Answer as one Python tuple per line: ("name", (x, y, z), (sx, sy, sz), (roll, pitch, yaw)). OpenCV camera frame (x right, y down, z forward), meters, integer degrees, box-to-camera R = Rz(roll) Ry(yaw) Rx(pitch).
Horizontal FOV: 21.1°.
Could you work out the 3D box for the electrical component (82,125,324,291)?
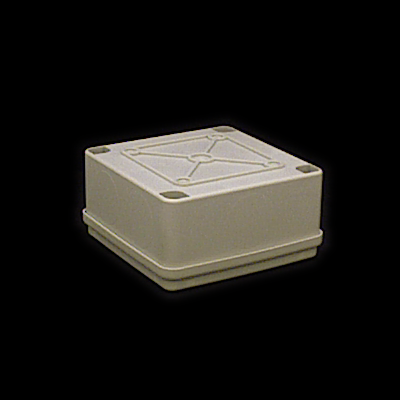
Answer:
("electrical component", (0.000, 0.000, 0.637), (0.108, 0.057, 0.107), (-12, 24, -30))
